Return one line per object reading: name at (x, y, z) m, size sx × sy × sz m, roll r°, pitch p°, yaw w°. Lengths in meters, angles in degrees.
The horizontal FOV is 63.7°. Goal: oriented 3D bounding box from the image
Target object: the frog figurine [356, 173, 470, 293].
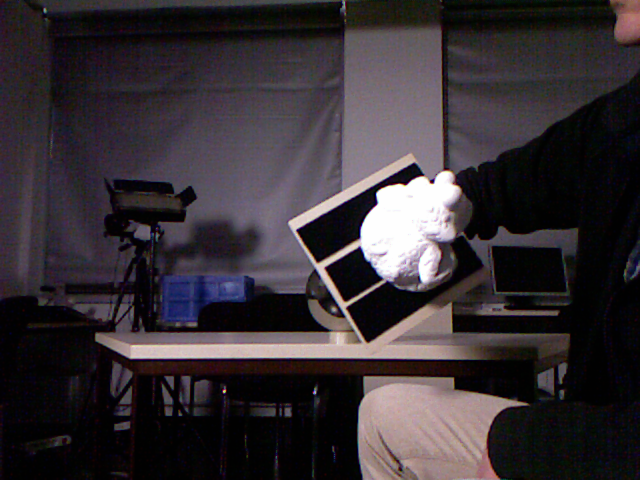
frog figurine at (0.117, -0.007, 0.622) m, size 0.124 × 0.139 × 0.158 m, roll -20°, pitch -7°, yaw -16°
